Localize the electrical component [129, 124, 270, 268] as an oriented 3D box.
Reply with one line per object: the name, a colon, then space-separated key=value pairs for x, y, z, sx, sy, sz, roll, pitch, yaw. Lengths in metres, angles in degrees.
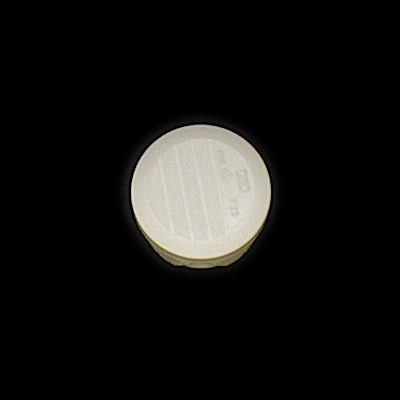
electrical component: x=0.000 y=0.000 z=0.629 sx=0.080 sy=0.080 sz=0.050 roll=0 pitch=-17 yaw=0
